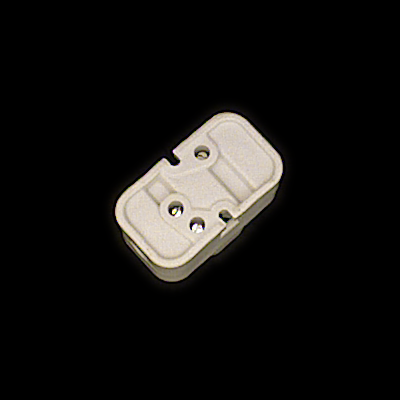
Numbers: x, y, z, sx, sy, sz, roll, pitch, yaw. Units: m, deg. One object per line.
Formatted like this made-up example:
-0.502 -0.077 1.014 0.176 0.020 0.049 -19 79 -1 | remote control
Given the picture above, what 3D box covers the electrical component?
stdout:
0.000 0.000 0.635 0.095 0.053 0.059 -41 -12 -11 | electrical component
